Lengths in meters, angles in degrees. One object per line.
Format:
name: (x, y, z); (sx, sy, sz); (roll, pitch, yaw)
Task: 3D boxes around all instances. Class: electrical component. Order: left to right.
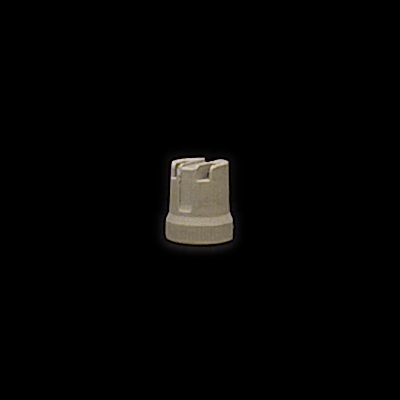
electrical component: (0.000, 0.000, 0.645); (0.040, 0.046, 0.040); (1, 11, 0)
